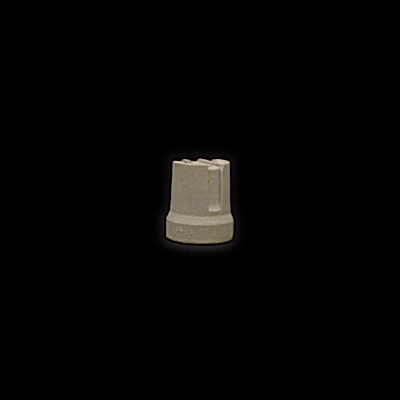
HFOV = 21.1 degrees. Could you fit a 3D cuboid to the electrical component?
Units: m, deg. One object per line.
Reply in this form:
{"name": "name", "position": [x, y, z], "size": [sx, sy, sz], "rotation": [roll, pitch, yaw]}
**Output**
{"name": "electrical component", "position": [0.000, 0.000, 0.647], "size": [0.040, 0.046, 0.040], "rotation": [2, 11, 0]}
